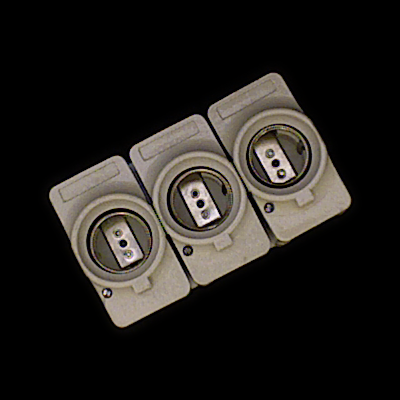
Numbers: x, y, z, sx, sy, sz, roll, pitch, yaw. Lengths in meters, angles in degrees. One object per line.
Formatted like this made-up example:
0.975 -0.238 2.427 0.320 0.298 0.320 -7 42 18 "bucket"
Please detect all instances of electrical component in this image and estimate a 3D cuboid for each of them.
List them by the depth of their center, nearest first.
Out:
0.000 0.000 0.632 0.150 0.089 0.061 -28 -5 -2 "electrical component"
